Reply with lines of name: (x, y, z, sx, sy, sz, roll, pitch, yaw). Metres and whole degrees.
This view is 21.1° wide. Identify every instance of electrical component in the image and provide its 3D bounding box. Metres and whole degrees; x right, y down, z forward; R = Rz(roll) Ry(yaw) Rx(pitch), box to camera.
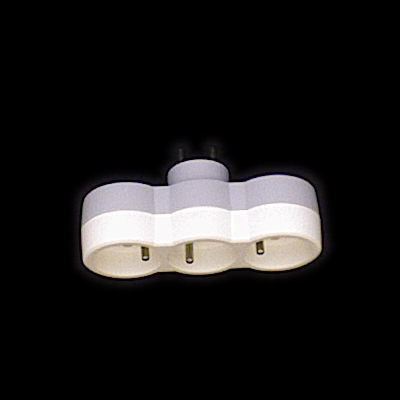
electrical component: (0.000, 0.000, 0.630, 0.138, 0.074, 0.052, -3, -29, -1)
